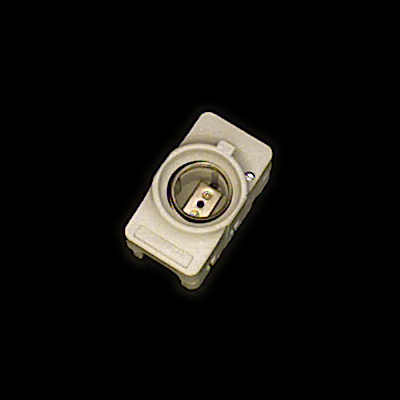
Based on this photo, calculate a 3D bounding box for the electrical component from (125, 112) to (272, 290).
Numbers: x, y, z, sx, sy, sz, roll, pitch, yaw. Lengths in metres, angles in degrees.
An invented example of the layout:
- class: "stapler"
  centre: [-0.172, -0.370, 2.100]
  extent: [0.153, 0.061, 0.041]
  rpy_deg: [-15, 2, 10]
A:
- class: "electrical component"
  centre: [0.000, 0.000, 0.636]
  extent: [0.050, 0.090, 0.055]
  rpy_deg: [31, -14, 9]
